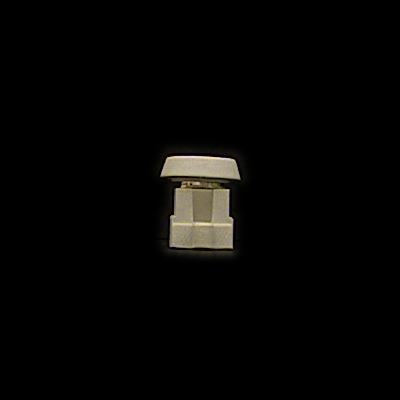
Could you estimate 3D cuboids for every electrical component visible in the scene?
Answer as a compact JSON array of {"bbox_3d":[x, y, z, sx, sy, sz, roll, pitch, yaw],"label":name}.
[{"bbox_3d":[0.000,0.000,0.657,0.048,0.055,0.066,3,1,-5],"label":"electrical component"}]
